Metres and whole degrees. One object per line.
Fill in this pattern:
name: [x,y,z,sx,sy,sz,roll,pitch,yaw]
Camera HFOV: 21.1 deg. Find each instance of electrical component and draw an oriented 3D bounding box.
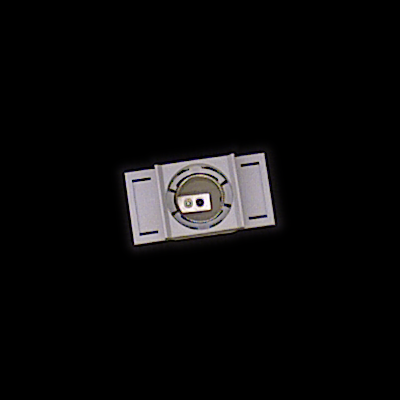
electrical component: [0.000,0.000,0.624,0.081,0.042,0.063,-8,-5,-1]
